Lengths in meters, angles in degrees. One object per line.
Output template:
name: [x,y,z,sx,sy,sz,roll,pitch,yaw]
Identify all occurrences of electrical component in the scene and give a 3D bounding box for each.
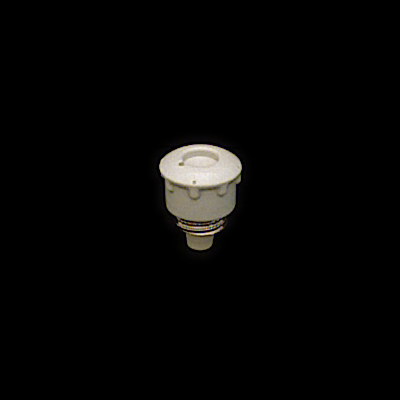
electrical component: [0.000,0.000,0.639,0.048,0.063,0.047,1,32,0]
